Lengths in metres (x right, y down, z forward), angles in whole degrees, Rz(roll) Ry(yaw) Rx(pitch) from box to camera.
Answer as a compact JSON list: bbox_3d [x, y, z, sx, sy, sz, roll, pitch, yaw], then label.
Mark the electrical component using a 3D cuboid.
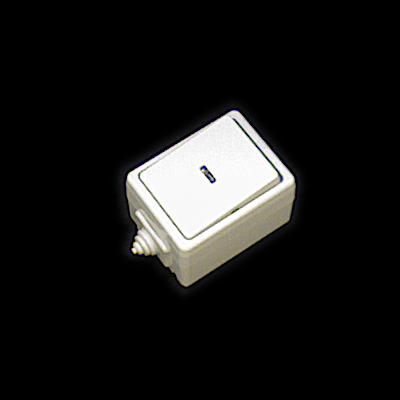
[{"bbox_3d":[0.000,0.000,0.625,0.096,0.062,0.061,-32,-23,-15],"label":"electrical component"}]
